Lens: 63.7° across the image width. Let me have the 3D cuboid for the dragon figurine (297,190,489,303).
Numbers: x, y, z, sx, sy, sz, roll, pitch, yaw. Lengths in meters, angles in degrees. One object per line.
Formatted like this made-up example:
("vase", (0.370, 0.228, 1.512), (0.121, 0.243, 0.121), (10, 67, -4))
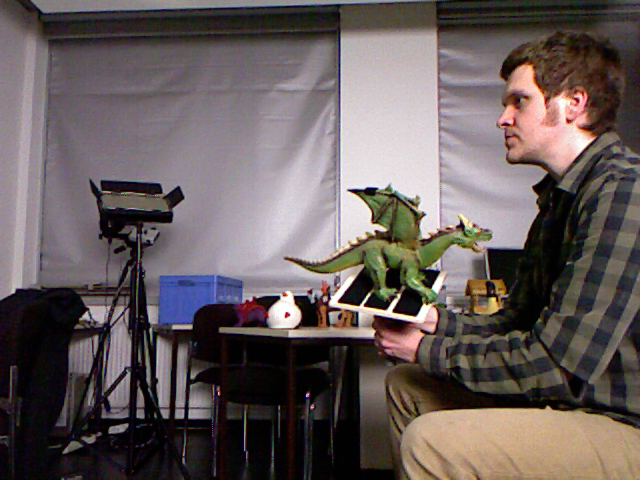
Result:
("dragon figurine", (0.131, -0.001, 1.061), (0.411, 0.238, 0.125), (5, 33, 16))
